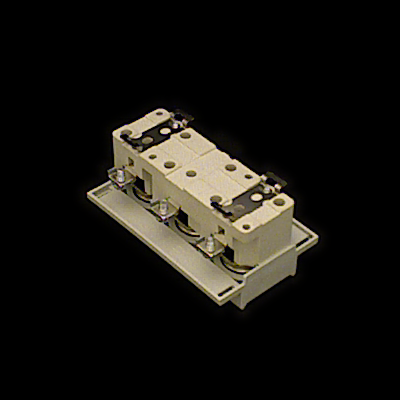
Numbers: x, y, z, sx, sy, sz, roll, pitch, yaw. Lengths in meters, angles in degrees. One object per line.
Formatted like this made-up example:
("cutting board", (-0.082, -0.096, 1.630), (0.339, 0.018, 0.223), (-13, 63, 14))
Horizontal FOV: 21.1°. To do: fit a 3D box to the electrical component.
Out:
("electrical component", (0.000, 0.000, 0.640), (0.079, 0.063, 0.120), (-31, 51, -31))
